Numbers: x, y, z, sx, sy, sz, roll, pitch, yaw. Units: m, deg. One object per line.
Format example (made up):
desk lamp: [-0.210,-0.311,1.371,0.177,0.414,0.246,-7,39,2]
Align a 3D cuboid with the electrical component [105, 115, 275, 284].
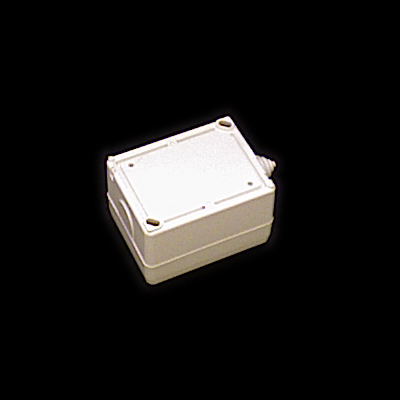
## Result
electrical component: [0.000,0.000,0.628,0.096,0.061,0.061,-20,-35,-16]
